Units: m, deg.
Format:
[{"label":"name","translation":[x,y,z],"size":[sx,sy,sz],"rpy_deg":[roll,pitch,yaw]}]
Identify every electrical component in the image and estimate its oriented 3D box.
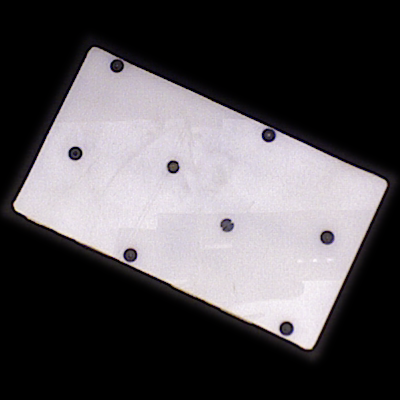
[{"label":"electrical component","translation":[0.000,0.000,0.626],"size":[0.186,0.106,0.060],"rpy_deg":[25,-6,3]}]
